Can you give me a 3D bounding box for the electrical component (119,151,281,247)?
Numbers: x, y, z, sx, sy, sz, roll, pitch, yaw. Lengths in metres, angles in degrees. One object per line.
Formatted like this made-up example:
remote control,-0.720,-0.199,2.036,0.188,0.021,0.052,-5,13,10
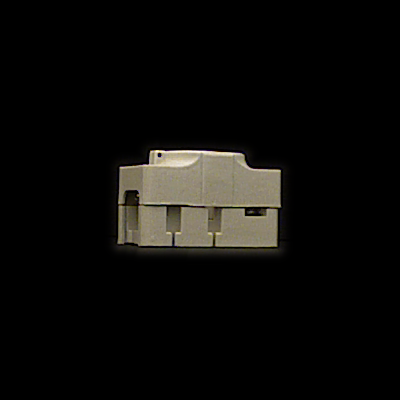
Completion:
electrical component,0.000,0.000,0.657,0.090,0.056,0.050,1,1,-26
